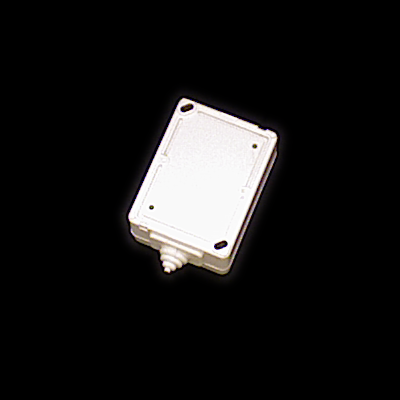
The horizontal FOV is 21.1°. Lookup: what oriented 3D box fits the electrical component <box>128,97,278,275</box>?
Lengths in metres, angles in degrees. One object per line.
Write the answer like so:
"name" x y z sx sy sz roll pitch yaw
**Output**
"electrical component" 0.000 0.000 0.628 0.062 0.097 0.060 21 -15 6
